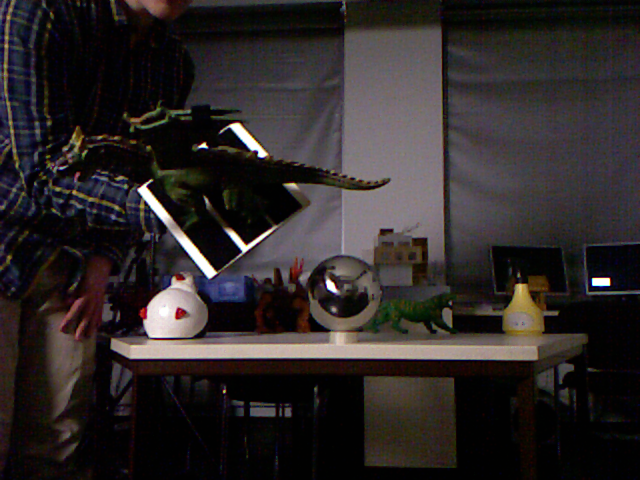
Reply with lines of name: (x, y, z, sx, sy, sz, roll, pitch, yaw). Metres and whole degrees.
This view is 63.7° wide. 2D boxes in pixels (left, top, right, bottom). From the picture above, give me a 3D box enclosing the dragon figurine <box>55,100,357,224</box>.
dragon figurine: (-0.152, -0.115, 0.719, 0.410, 0.124, 0.240, -6, -14, 1)
